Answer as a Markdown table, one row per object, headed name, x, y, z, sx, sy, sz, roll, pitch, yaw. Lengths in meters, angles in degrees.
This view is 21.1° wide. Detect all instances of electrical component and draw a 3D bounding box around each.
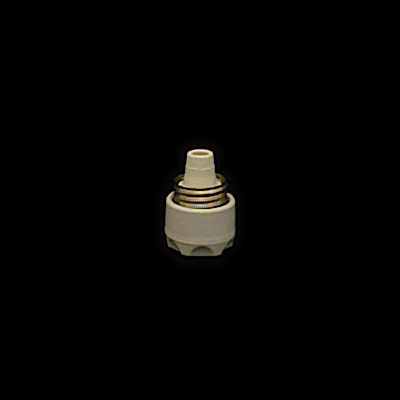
| name | x | y | z | sx | sy | sz | roll | pitch | yaw |
| --- | --- | --- | --- | --- | --- | --- | --- | --- | --- |
| electrical component | 0.000 | 0.000 | 0.647 | 0.043 | 0.063 | 0.043 | 1 | 21 | 0 |
